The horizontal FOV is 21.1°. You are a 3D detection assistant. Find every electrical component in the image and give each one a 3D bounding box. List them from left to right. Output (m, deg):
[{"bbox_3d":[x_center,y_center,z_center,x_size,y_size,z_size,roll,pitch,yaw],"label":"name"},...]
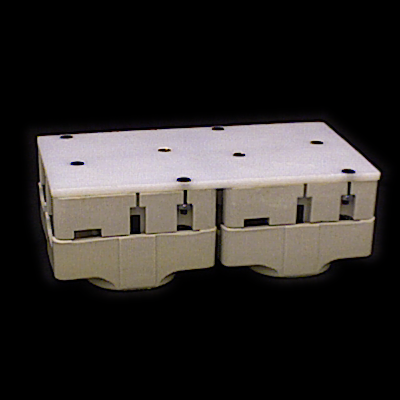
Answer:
[{"bbox_3d":[0.000,0.000,0.638,0.186,0.061,0.104,-4,21,-12],"label":"electrical component"}]
